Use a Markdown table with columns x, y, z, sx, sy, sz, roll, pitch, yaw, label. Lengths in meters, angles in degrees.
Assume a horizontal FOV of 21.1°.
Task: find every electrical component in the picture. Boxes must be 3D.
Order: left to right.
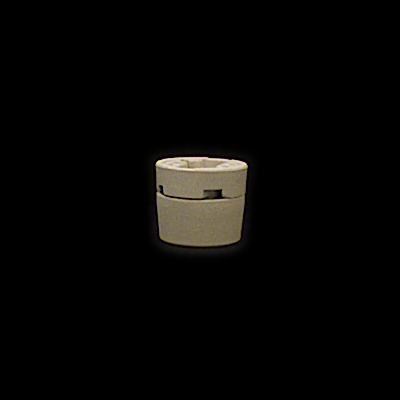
| x | y | z | sx | sy | sz | roll | pitch | yaw | label |
| --- | --- | --- | --- | --- | --- | --- | --- | --- | --- |
| 0.000 | 0.000 | 0.647 | 0.055 | 0.047 | 0.055 | 1 | 11 | 0 | electrical component |
